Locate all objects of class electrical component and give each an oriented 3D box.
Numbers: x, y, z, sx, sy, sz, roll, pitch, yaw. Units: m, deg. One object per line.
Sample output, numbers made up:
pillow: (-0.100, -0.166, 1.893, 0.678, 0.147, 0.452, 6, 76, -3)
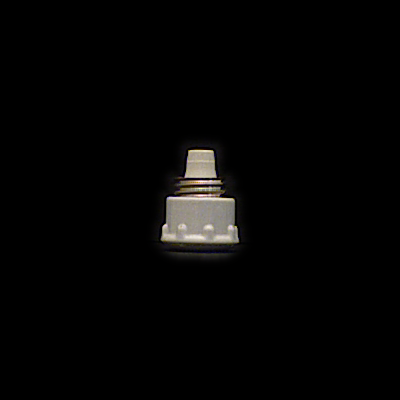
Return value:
electrical component: (0.000, 0.000, 0.657, 0.048, 0.062, 0.048, 1, 1, 1)
